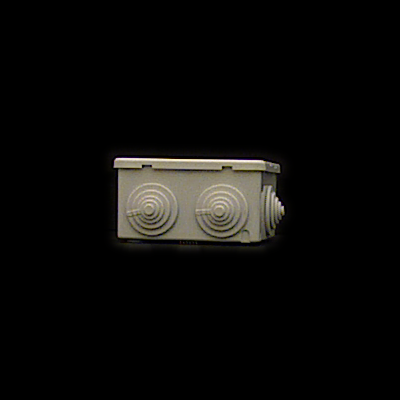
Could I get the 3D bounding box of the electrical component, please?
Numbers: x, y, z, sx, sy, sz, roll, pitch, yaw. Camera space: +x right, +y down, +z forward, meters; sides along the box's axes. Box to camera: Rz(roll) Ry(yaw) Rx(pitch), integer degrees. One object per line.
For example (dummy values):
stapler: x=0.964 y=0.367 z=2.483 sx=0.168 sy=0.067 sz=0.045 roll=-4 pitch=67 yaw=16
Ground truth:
electrical component: x=0.000 y=0.000 z=0.655 sx=0.099 sy=0.048 sz=0.100 roll=2 pitch=1 yaw=10
